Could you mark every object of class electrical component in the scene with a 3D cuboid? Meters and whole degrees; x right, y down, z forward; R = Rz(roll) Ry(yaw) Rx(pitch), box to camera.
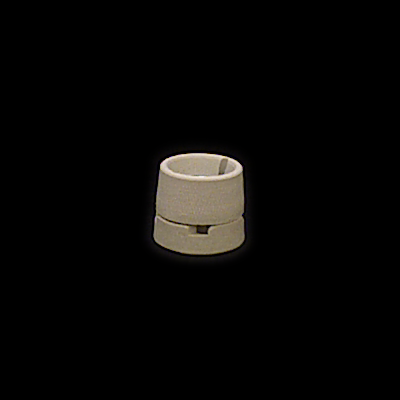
[{"bbox_3d":[0.000,0.000,0.643,0.055,0.047,0.055,2,21,-1],"label":"electrical component"}]
